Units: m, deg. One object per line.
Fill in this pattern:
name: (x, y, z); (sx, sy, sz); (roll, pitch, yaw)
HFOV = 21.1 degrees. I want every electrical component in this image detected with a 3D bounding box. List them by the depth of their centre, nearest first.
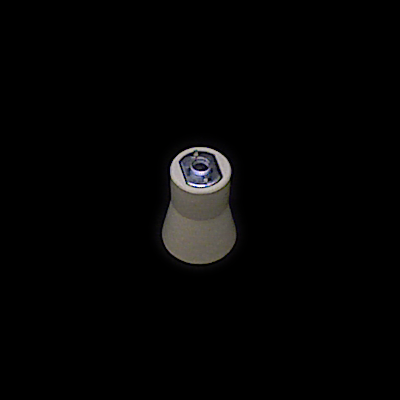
electrical component: (0.000, 0.000, 0.626); (0.044, 0.044, 0.065); (0, -38, -2)
